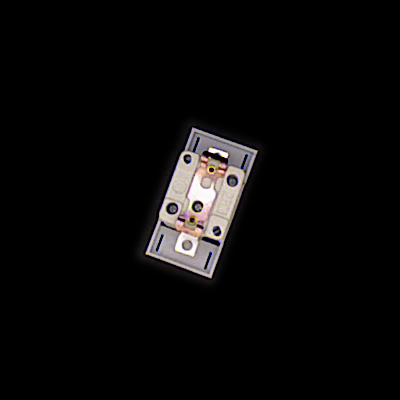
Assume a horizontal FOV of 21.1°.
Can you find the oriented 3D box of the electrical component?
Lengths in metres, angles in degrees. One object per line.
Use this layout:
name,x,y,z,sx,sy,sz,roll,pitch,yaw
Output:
electrical component,0.000,0.000,0.626,0.042,0.081,0.063,19,-6,3
